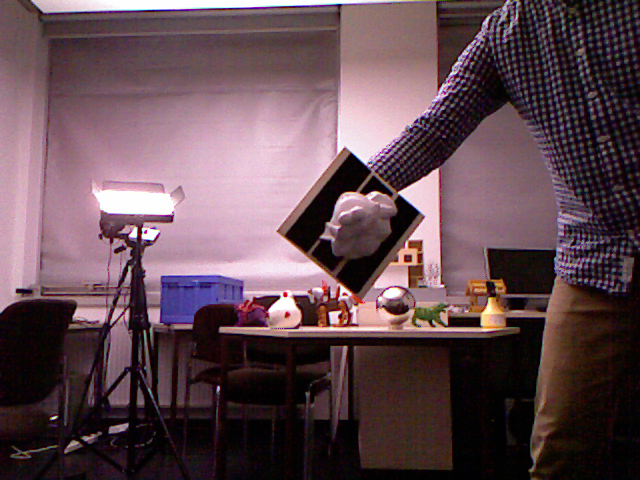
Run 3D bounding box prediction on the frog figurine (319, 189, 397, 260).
[{"bbox_3d":[0.072,-0.029,0.868,0.138,0.122,0.159,-34,5,-10],"label":"frog figurine"}]
